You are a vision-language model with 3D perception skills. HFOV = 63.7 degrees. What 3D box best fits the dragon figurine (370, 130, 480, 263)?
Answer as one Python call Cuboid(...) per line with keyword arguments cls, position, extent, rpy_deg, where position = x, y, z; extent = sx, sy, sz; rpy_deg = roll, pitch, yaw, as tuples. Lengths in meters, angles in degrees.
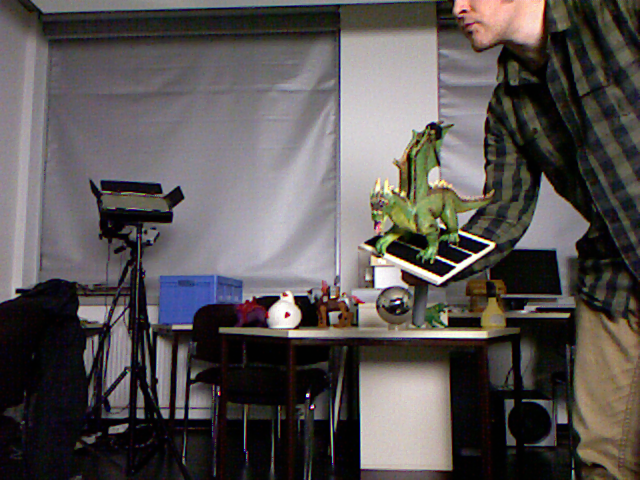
Cuboid(cls="dragon figurine", position=(0.225, -0.102, 1.033), extent=(0.123, 0.238, 0.416), rpy_deg=(24, 40, 35))
